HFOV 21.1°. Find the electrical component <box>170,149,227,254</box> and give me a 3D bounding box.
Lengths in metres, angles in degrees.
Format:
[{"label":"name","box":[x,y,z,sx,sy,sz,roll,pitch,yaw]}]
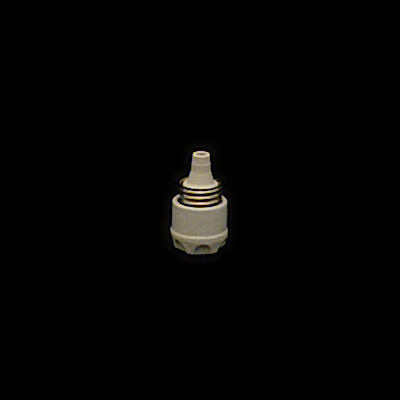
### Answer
[{"label":"electrical component","box":[0.000,0.000,0.651,0.035,0.062,0.034,2,21,0]}]
